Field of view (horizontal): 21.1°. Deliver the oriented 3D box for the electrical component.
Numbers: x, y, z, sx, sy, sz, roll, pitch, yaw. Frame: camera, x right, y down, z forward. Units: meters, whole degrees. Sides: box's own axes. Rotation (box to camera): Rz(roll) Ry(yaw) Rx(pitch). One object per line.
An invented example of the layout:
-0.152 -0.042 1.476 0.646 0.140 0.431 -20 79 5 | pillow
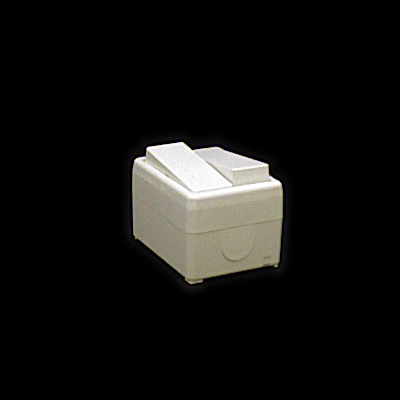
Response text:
0.000 0.000 0.641 0.062 0.061 0.095 -10 23 -26 | electrical component
